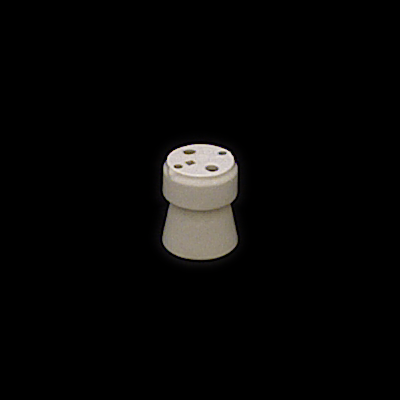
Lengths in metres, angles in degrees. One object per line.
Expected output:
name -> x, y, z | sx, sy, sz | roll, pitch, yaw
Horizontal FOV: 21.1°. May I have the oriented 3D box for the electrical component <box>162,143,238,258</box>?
electrical component -> 0.000, 0.000, 0.636 | 0.045, 0.056, 0.044 | 1, 31, 0
